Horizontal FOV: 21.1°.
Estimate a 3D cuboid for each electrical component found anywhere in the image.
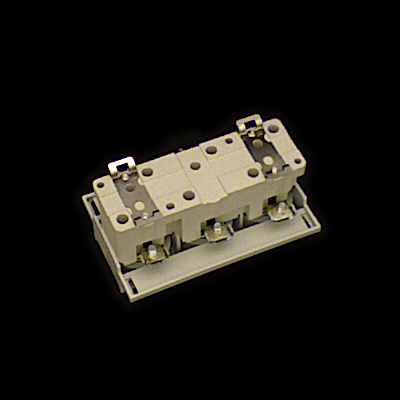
[{"bbox_3d":[0.000,0.000,0.634,0.122,0.078,0.063,-20,-34,-15],"label":"electrical component"}]
